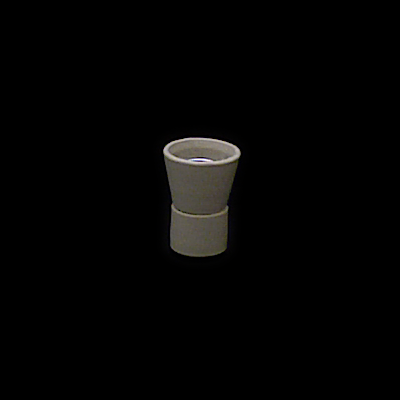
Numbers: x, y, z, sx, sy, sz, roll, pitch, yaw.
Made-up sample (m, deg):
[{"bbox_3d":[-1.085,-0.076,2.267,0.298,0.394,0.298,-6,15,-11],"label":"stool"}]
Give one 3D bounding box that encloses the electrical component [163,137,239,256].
[{"bbox_3d":[0.000,0.000,0.637,0.044,0.066,0.044,2,22,-1],"label":"electrical component"}]
